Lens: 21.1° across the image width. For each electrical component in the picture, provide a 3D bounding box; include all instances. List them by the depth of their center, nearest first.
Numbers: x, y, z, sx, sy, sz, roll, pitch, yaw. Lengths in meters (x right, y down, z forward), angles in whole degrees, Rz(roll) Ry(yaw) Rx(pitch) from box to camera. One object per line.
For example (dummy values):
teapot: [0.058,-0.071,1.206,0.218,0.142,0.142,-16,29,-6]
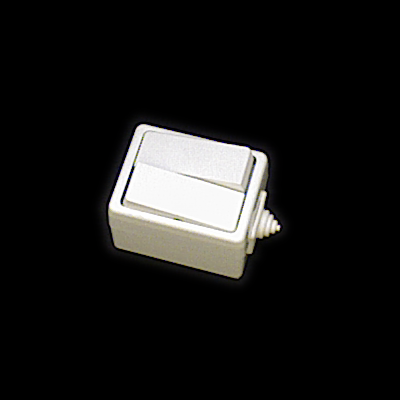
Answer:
electrical component: [0.000,0.000,0.626,0.096,0.062,0.061,14,-27,7]
